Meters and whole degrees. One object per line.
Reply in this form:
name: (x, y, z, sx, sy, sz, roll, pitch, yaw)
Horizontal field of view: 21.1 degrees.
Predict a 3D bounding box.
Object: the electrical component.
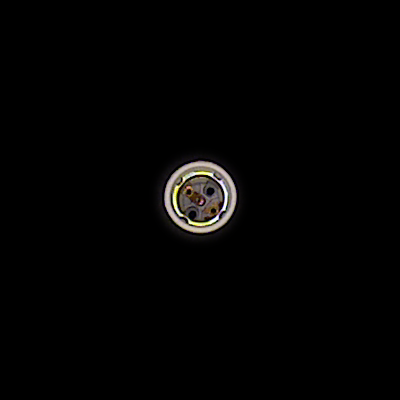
electrical component: (0.000, 0.000, 0.627, 0.040, 0.040, 0.046, 0, -6, 0)
